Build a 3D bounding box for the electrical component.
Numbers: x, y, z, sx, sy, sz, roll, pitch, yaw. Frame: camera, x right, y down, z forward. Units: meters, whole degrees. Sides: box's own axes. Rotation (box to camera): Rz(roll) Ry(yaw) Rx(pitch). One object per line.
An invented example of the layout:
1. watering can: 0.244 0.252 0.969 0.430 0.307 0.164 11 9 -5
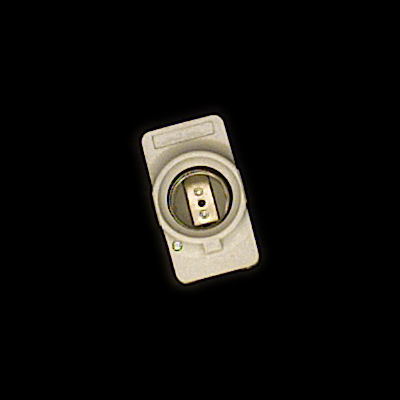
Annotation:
1. electrical component: 0.000 0.000 0.637 0.050 0.090 0.055 -15 -6 0
